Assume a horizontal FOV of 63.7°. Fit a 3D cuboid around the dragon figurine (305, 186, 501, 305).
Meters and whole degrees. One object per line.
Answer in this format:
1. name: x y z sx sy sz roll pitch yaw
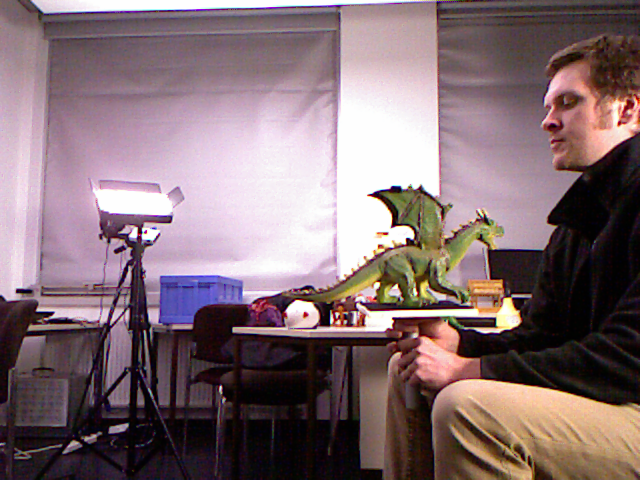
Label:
1. dragon figurine: 0.174 0.012 1.046 0.410 0.243 0.122 0 0 -5
